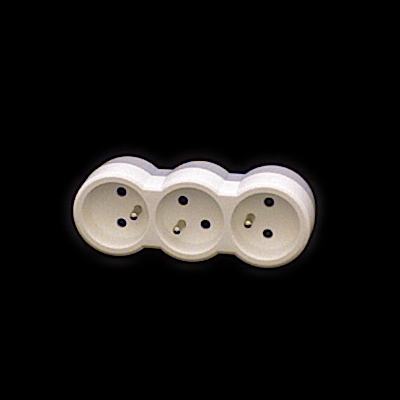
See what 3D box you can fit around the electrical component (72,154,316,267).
[{"bbox_3d":[0.000,0.000,0.641,0.138,0.053,0.073,4,19,9],"label":"electrical component"}]
